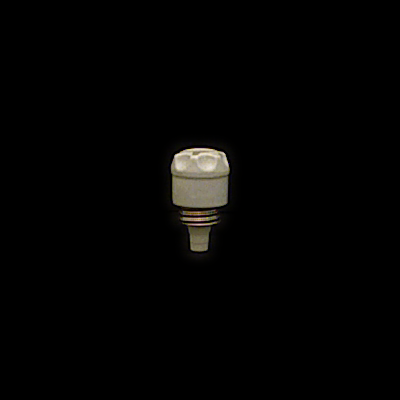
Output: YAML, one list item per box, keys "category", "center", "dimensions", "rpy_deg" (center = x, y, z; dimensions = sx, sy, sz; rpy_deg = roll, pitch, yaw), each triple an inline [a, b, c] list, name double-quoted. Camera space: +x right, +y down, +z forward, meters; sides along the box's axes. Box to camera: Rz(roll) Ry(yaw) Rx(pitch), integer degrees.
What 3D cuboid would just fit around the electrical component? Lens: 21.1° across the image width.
- category: "electrical component"
  center: [0.000, 0.000, 0.649]
  dimensions: [0.035, 0.062, 0.035]
  rpy_deg: [1, 12, 0]
